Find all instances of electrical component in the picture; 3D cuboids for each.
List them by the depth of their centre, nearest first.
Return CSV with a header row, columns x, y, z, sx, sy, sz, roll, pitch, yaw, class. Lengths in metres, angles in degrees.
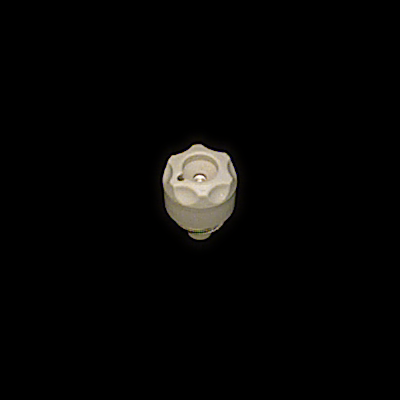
x,y,z,sx,sy,sz,roll,pitch,yaw,class
0.000,0.000,0.636,0.043,0.043,0.062,0,-38,-1,electrical component
